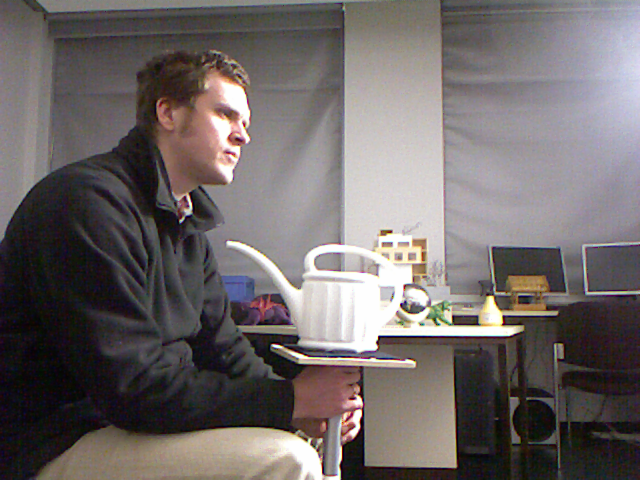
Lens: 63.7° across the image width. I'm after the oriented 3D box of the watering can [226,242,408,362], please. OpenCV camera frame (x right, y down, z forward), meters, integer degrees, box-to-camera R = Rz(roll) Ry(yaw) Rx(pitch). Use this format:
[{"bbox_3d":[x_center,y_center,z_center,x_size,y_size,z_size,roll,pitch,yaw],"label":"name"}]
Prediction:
[{"bbox_3d":[-0.005,0.115,0.928,0.347,0.225,0.104,7,-5,-15],"label":"watering can"}]
